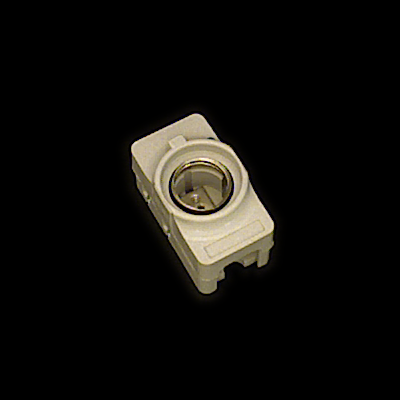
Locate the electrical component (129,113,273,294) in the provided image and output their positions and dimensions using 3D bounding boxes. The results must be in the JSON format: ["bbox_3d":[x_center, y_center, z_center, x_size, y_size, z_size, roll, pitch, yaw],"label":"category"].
[{"bbox_3d":[0.000,0.000,0.636,0.050,0.089,0.055,-27,-23,-13],"label":"electrical component"}]
